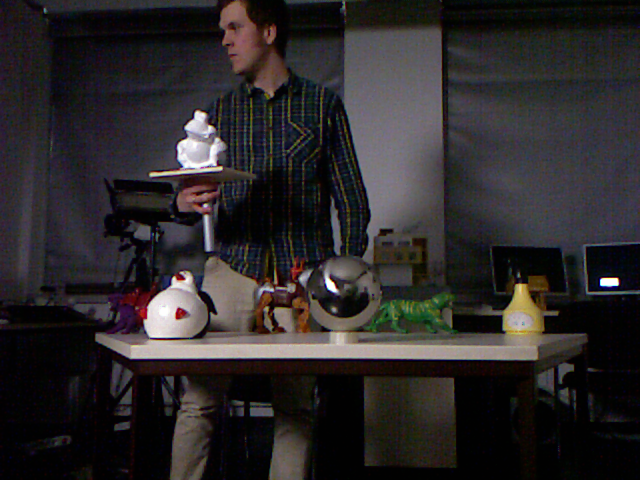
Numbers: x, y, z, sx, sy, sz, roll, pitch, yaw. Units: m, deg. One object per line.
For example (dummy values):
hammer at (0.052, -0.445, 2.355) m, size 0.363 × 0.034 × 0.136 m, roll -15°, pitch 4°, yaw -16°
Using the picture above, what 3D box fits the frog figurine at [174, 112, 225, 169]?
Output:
frog figurine at (-0.327, -0.259, 1.377) m, size 0.137 × 0.159 × 0.123 m, roll -2°, pitch 6°, yaw 20°
